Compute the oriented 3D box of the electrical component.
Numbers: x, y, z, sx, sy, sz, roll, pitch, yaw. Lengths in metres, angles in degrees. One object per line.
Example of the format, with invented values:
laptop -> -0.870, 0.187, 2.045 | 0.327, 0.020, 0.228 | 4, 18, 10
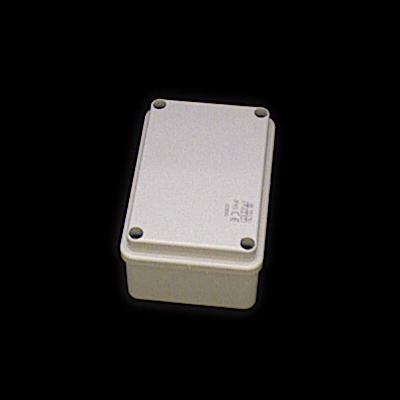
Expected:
electrical component -> 0.000, 0.000, 0.628 | 0.078, 0.112, 0.057 | 5, -38, 3
